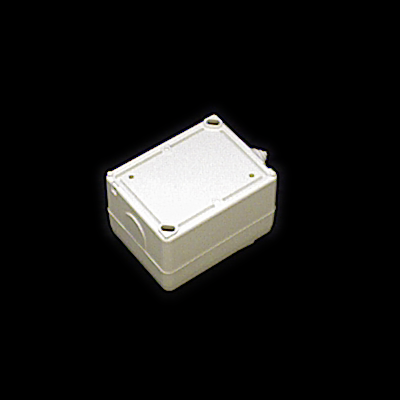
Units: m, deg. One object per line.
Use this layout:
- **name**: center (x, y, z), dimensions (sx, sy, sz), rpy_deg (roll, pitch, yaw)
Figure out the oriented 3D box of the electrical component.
- **electrical component**: center (0.001, 0.000, 0.632), dimensions (0.096, 0.061, 0.061), rpy_deg (-30, 57, -22)
